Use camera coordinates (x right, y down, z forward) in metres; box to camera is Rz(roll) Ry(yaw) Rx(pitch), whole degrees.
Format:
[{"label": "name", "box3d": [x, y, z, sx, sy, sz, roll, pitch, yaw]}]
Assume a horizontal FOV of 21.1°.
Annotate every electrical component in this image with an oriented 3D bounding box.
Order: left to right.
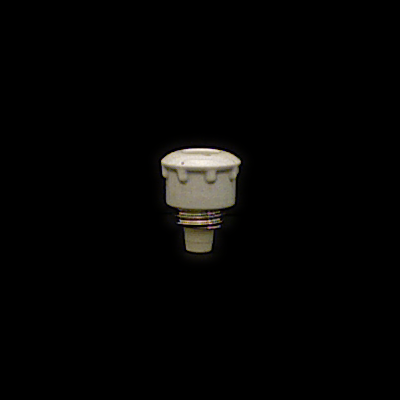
[{"label": "electrical component", "box3d": [0.000, 0.000, 0.652, 0.048, 0.062, 0.048, 1, 11, 0]}]
